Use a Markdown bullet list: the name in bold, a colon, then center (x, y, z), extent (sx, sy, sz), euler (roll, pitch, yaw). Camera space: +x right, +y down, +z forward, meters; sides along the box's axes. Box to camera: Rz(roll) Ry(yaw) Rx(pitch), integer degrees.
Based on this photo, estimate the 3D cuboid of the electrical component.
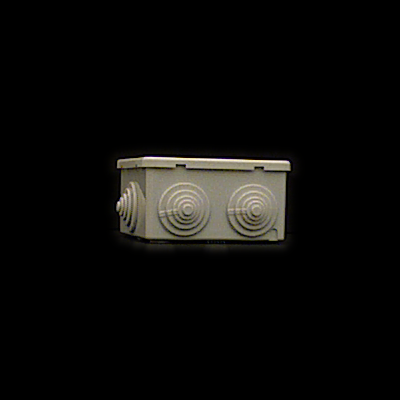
- **electrical component**: center (0.000, 0.000, 0.655), extent (0.100, 0.048, 0.099), euler (1, 1, -15)
